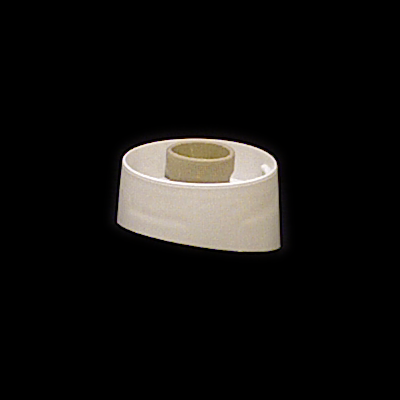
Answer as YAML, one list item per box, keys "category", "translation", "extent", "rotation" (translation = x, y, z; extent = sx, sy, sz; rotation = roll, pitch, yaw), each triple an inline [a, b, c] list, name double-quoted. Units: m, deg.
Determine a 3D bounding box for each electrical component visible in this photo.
- category: "electrical component"
  translation: [0.000, 0.000, 0.637]
  extent: [0.099, 0.065, 0.097]
  rotation: [1, 20, 0]
